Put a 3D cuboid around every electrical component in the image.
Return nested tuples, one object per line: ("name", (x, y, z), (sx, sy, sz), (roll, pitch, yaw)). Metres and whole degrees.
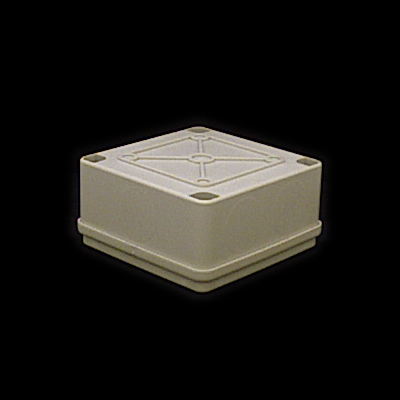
("electrical component", (0.000, 0.000, 0.641), (0.108, 0.057, 0.108), (20, 28, 40))
